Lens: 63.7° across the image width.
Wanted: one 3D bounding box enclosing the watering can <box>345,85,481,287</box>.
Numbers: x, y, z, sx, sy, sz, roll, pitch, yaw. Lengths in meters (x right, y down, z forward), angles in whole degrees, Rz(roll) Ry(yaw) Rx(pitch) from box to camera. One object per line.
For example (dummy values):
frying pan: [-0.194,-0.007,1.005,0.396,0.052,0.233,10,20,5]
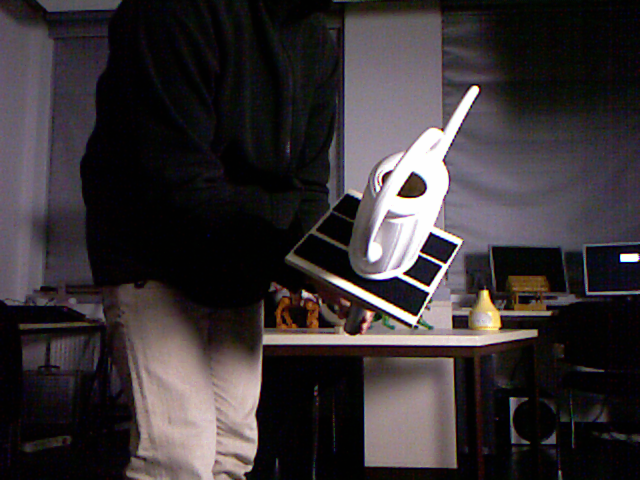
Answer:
watering can: [0.135,-0.073,0.732,0.105,0.219,0.354,31,49,15]
